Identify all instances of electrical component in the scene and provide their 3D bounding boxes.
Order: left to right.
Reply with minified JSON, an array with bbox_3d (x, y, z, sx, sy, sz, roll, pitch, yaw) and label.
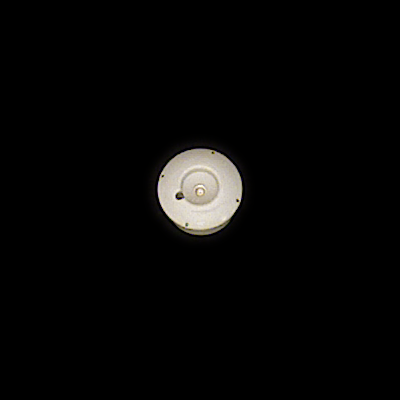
[{"bbox_3d":[0.000,0.000,0.632,0.048,0.048,0.061,0,-16,1],"label":"electrical component"}]
